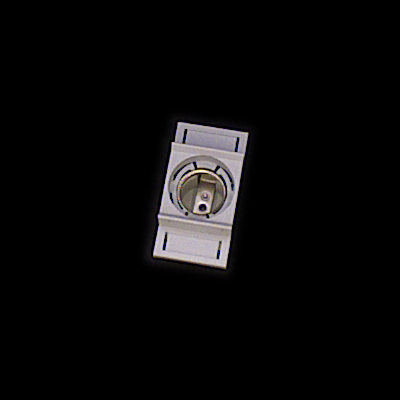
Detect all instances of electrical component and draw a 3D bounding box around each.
[{"bbox_3d":[0.000,0.000,0.624,0.042,0.081,0.063,9,-16,4],"label":"electrical component"}]
